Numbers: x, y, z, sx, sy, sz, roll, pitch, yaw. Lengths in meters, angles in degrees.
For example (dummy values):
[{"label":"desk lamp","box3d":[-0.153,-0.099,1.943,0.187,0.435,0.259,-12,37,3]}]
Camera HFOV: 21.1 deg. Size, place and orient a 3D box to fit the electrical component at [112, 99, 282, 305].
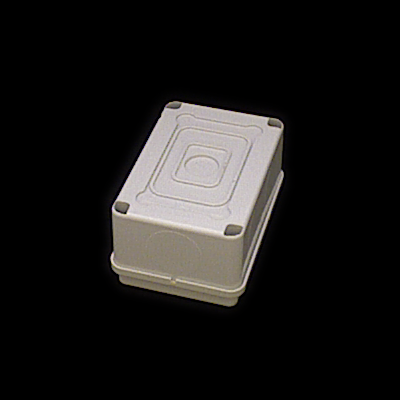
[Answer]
[{"label":"electrical component","box3d":[0.000,0.000,0.631,0.078,0.057,0.112,11,43,11]}]
